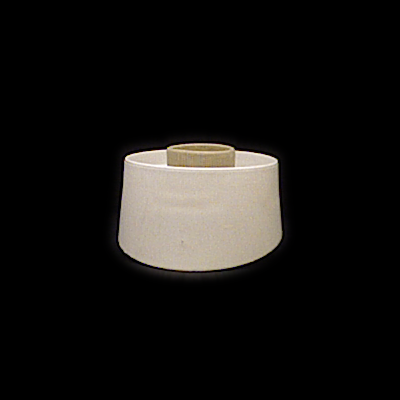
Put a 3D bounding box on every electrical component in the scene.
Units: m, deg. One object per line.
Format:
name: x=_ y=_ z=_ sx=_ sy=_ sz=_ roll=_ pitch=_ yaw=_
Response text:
electrical component: x=0.000 y=0.000 z=0.644 sx=0.099 sy=0.064 sz=0.098 roll=1 pitch=11 yaw=0
